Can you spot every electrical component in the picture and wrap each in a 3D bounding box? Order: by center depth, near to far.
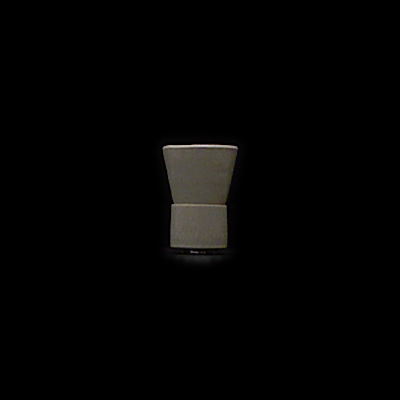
[{"bbox_3d":[0.000,0.000,0.648,0.044,0.065,0.044,1,2,0],"label":"electrical component"}]
